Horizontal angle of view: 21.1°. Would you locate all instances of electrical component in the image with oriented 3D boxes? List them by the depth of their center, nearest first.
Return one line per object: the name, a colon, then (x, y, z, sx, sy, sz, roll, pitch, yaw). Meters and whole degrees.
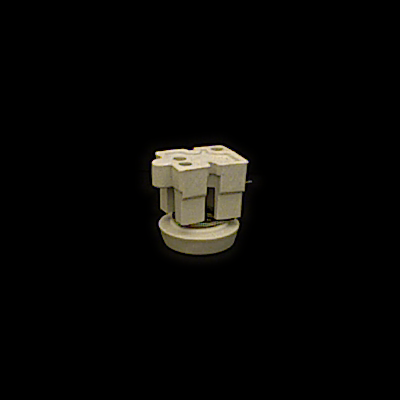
electrical component: (0.000, 0.000, 0.646, 0.067, 0.056, 0.047, -8, 23, -25)
